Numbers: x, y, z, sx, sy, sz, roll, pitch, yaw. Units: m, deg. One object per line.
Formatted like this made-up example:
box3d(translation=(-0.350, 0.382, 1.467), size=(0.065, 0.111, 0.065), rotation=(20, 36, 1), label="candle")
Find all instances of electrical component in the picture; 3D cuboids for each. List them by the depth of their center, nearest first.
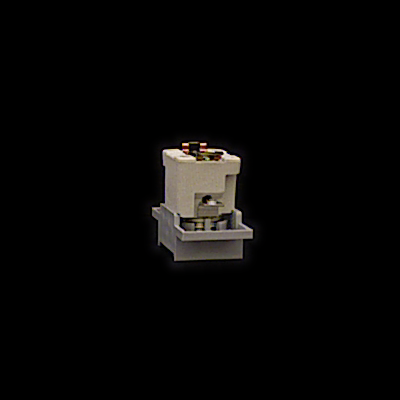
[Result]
box3d(translation=(0.000, 0.000, 0.644), size=(0.042, 0.064, 0.080), rotation=(-2, 11, -15), label="electrical component")
